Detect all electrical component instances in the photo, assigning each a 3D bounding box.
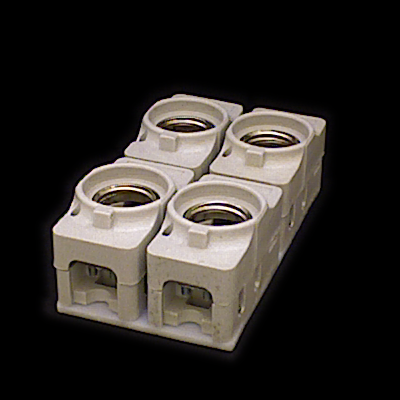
[{"bbox_3d":[0.000,0.000,0.633,0.105,0.061,0.184,12,33,17],"label":"electrical component"}]
